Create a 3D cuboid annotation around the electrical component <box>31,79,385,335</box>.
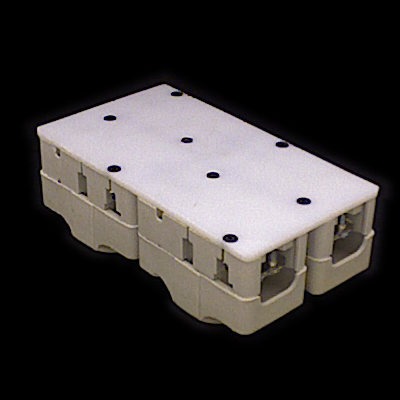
[{"bbox_3d":[0.000,0.000,0.634,0.105,0.061,0.184,-25,40,-36],"label":"electrical component"}]
